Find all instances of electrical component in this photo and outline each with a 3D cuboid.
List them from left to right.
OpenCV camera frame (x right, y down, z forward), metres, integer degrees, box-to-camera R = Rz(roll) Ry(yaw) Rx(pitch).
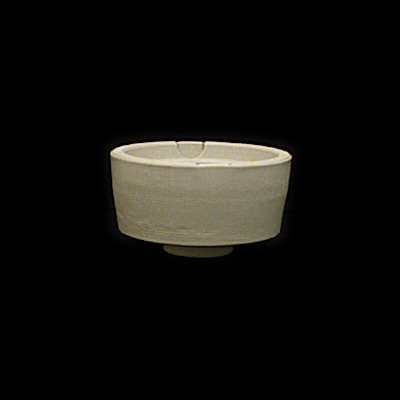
[{"bbox_3d":[0.000,0.000,0.648,0.108,0.061,0.107,1,10,0],"label":"electrical component"}]
